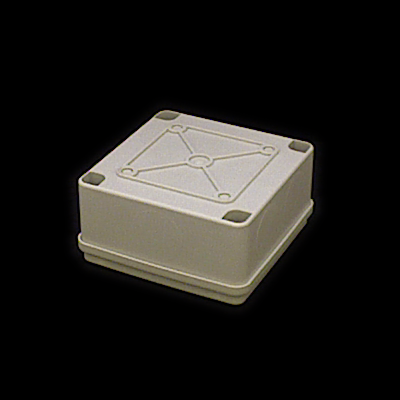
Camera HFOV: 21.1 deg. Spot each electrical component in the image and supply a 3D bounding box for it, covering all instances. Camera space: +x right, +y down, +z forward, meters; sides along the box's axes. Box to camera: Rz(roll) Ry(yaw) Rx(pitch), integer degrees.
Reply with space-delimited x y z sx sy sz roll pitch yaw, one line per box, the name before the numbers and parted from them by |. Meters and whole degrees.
electrical component | 0.000 0.000 0.633 0.108 0.057 0.108 15 34 22
